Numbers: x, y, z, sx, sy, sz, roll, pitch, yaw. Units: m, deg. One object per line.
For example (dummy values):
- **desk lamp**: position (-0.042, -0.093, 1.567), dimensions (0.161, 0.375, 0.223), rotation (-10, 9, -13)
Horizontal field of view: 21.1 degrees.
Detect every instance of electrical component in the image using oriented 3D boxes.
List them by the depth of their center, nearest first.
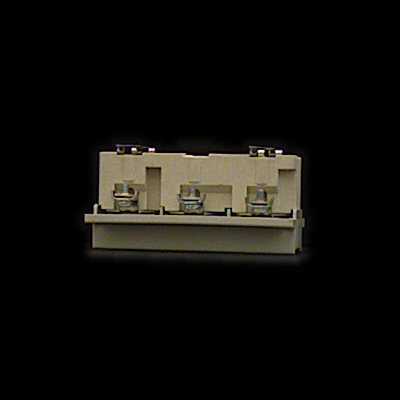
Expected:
- **electrical component**: position (0.000, 0.000, 0.654), dimensions (0.121, 0.063, 0.079), rotation (1, 1, 10)
